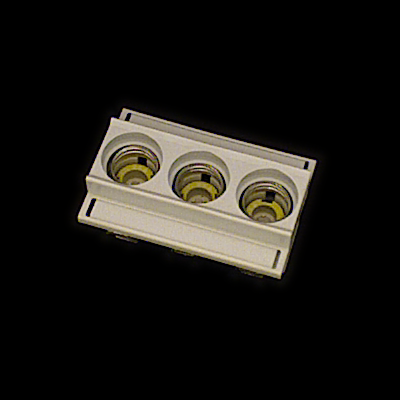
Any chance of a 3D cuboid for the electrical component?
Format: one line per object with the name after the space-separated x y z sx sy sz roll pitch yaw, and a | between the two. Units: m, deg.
0.000 0.000 0.638 0.121 0.078 0.063 16 -27 8 | electrical component
